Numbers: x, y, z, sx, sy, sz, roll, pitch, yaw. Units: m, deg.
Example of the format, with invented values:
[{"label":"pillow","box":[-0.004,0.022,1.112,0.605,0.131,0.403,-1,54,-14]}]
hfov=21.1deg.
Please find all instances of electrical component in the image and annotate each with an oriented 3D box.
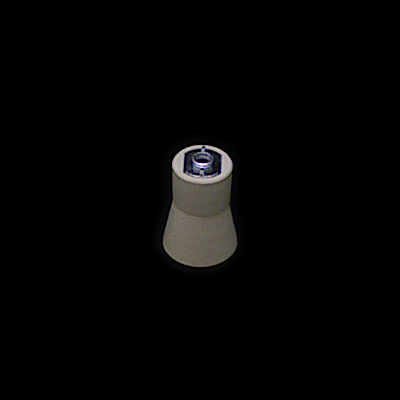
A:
[{"label":"electrical component","box":[0.000,0.000,0.629,0.044,0.066,0.044,1,42,-1]}]
